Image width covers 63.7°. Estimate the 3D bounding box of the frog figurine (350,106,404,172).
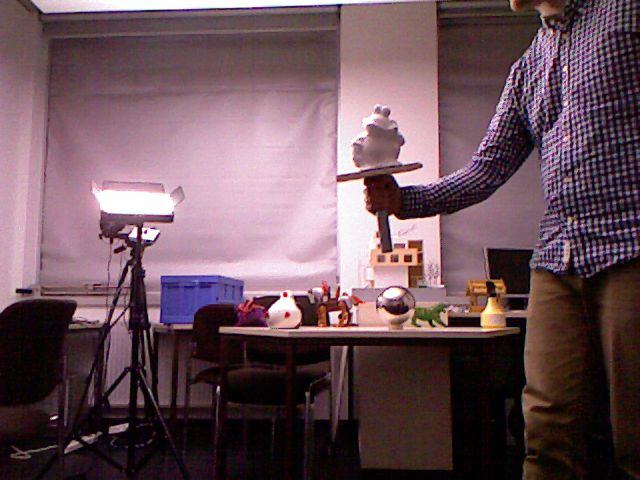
[{"bbox_3d":[0.140,-0.255,1.297,0.137,0.158,0.124,-3,10,19],"label":"frog figurine"}]
